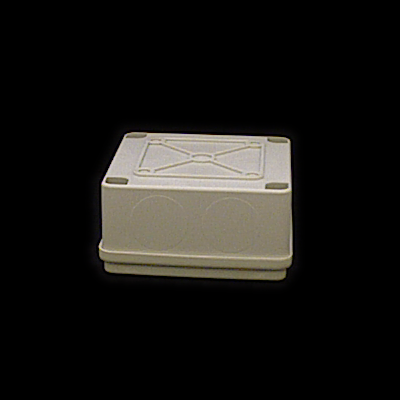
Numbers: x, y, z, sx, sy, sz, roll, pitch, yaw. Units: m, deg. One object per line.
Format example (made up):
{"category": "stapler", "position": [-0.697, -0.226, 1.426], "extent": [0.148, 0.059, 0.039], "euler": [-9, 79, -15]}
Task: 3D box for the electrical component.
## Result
{"category": "electrical component", "position": [0.000, 0.000, 0.640], "extent": [0.109, 0.057, 0.107], "euler": [2, 20, 3]}
